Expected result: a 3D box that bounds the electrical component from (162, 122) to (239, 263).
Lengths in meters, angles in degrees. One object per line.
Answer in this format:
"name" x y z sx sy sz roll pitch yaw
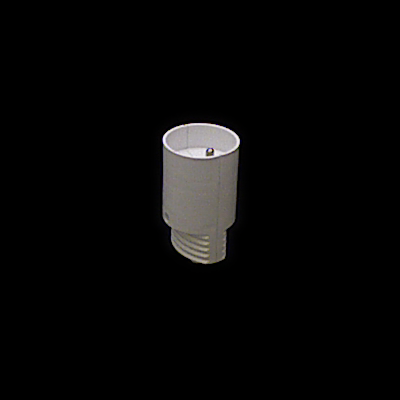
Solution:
"electrical component" 0.000 0.000 0.628 0.043 0.082 0.042 1 32 0
